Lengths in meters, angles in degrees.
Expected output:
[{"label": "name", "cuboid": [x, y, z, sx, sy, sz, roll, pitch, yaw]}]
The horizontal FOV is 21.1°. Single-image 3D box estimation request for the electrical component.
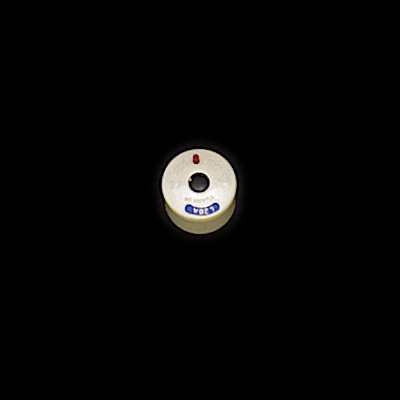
[{"label": "electrical component", "cuboid": [0.000, 0.000, 0.618, 0.040, 0.040, 0.078, 0, -17, 0]}]
